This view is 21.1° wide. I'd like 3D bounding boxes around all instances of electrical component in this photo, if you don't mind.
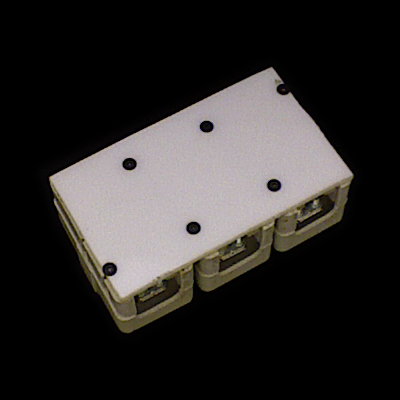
[{"bbox_3d":[0.000,0.000,0.629,0.150,0.089,0.062,-27,-24,-13],"label":"electrical component"}]
